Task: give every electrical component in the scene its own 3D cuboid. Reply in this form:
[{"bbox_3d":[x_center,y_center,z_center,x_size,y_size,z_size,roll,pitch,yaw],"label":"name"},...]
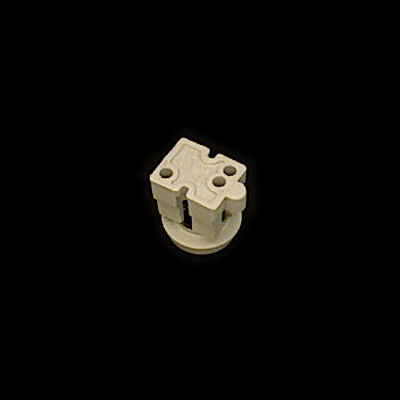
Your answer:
[{"bbox_3d":[0.000,0.000,0.639,0.066,0.048,0.056,26,-32,19],"label":"electrical component"}]
